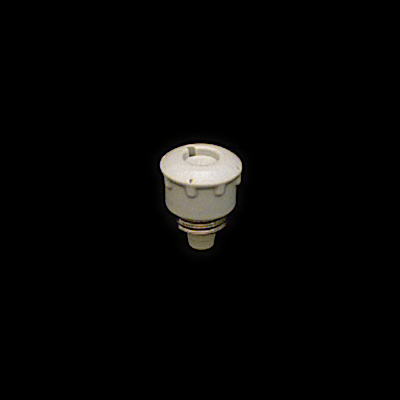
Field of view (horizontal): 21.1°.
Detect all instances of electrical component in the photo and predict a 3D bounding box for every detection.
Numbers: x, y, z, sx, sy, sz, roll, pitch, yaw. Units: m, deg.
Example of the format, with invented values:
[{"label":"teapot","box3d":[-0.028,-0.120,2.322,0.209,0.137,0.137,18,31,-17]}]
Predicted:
[{"label":"electrical component","box3d":[0.000,0.000,0.640,0.048,0.063,0.047,1,32,0]}]
